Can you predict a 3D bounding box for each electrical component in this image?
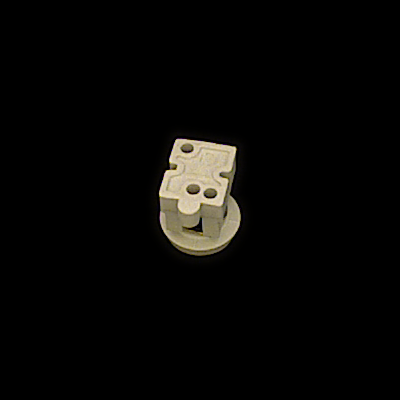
[{"bbox_3d":[0.000,0.000,0.638,0.048,0.066,0.055,9,-37,8],"label":"electrical component"}]
